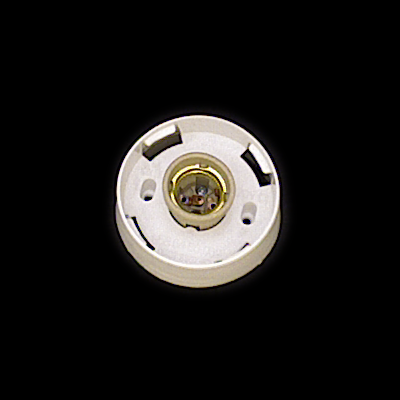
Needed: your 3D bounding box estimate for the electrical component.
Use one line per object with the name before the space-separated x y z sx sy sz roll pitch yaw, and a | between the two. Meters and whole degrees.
electrical component | 0.000 0.000 0.624 0.099 0.099 0.064 0 -17 0
